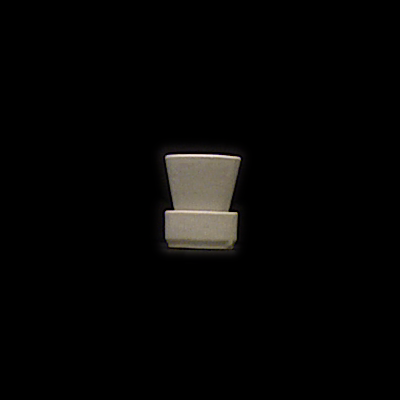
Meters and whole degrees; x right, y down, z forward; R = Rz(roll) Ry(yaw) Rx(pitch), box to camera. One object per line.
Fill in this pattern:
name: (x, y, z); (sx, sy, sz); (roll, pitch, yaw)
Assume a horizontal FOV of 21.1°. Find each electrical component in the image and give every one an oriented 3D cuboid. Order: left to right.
electrical component: (0.000, 0.000, 0.652); (0.045, 0.055, 0.045); (2, 1, 0)
